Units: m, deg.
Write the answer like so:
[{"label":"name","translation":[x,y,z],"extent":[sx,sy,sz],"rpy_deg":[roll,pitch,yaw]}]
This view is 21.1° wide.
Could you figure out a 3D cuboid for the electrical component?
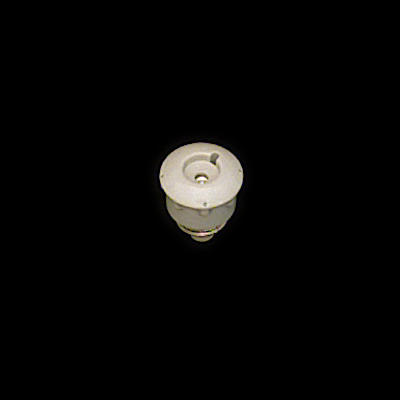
[{"label":"electrical component","translation":[0.000,0.000,0.636],"extent":[0.048,0.048,0.062],"rpy_deg":[0,-37,0]}]
